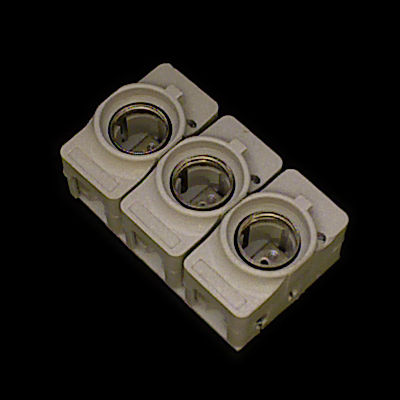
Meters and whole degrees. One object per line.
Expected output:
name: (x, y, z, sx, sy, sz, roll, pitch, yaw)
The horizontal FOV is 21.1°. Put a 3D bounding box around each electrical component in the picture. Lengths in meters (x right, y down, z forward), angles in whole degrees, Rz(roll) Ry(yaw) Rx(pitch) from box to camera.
electrical component: (0.000, 0.000, 0.632, 0.089, 0.149, 0.062, -41, -19, -19)
